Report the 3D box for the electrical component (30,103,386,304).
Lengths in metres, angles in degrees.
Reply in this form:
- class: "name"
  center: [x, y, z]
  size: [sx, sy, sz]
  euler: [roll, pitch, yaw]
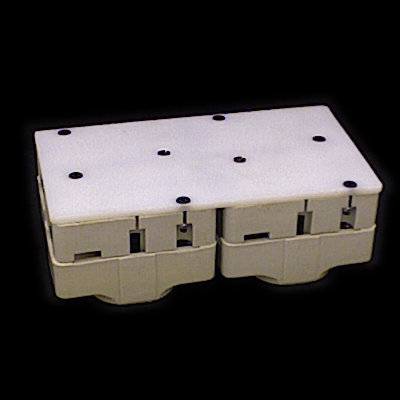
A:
- class: "electrical component"
  center: [0.000, 0.000, 0.633]
  size: [0.186, 0.061, 0.104]
  euler: [-6, 32, -11]
